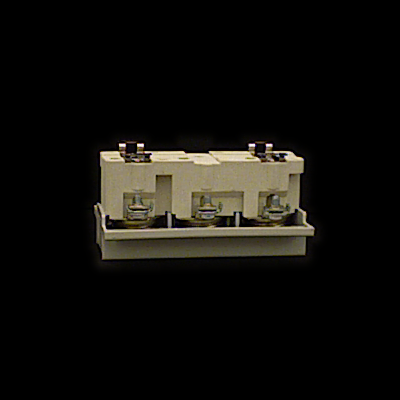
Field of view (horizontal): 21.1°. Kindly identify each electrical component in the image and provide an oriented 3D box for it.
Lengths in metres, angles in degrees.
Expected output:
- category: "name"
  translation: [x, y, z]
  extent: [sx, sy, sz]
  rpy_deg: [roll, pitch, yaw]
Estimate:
- category: "electrical component"
  translation: [0.000, 0.000, 0.648]
  extent: [0.122, 0.063, 0.078]
  rpy_deg: [-1, 12, -10]
